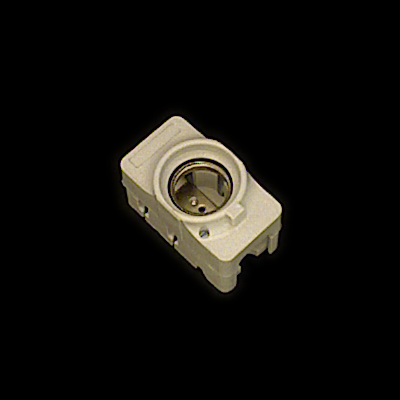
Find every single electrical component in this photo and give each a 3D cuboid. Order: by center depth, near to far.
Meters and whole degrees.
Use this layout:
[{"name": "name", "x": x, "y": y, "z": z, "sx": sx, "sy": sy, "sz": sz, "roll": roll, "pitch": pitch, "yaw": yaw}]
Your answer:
[{"name": "electrical component", "x": 0.000, "y": 0.000, "z": 0.635, "sx": 0.089, "sy": 0.050, "sz": 0.055, "roll": 42, "pitch": -19, "yaw": 19}]
